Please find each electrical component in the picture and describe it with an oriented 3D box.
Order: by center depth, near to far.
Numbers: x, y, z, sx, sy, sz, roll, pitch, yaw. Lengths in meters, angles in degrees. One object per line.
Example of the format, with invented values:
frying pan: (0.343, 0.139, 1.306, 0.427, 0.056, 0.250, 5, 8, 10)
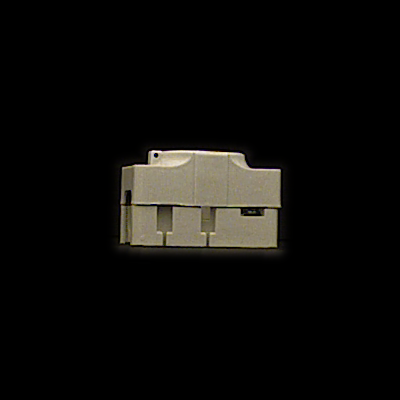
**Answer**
electrical component: (0.000, 0.000, 0.657, 0.090, 0.056, 0.050, 1, 1, -16)
